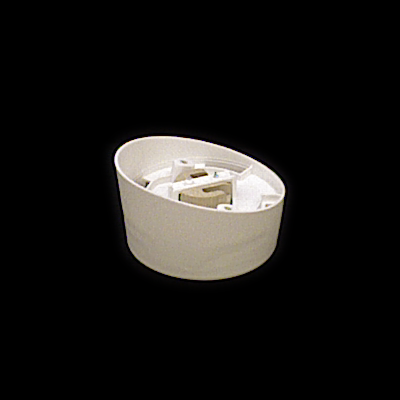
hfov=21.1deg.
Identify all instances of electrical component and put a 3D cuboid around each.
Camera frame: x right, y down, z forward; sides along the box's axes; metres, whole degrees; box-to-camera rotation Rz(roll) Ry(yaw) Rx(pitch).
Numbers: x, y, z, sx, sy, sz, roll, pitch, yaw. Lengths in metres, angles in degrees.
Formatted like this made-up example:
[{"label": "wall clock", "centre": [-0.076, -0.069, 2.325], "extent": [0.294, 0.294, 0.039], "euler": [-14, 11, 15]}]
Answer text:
[{"label": "electrical component", "centre": [0.000, 0.000, 0.631], "extent": [0.099, 0.065, 0.097], "euler": [0, 32, 0]}]
